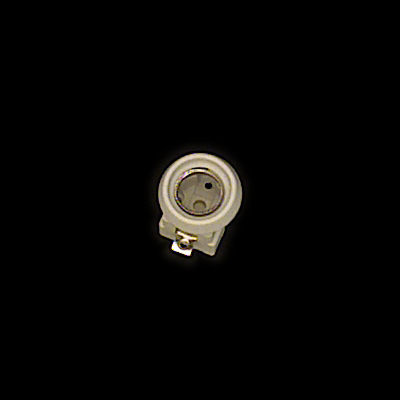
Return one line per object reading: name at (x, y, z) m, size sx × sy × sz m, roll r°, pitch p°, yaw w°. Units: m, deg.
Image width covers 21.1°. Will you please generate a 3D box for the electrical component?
electrical component at (0.000, 0.000, 0.637) m, size 0.048 × 0.067 × 0.055 m, roll 19°, pitch -15°, yaw 8°
